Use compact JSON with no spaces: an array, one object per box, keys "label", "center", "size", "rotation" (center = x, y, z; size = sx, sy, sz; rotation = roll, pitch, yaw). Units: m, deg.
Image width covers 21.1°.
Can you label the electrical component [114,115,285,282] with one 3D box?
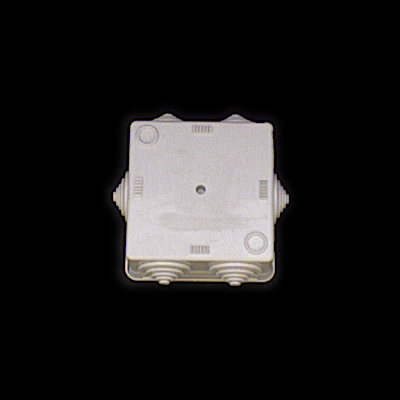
[{"label":"electrical component","center":[0.000,0.000,0.631],"size":[0.100,0.100,0.048],"rotation":[1,-16,0]}]
